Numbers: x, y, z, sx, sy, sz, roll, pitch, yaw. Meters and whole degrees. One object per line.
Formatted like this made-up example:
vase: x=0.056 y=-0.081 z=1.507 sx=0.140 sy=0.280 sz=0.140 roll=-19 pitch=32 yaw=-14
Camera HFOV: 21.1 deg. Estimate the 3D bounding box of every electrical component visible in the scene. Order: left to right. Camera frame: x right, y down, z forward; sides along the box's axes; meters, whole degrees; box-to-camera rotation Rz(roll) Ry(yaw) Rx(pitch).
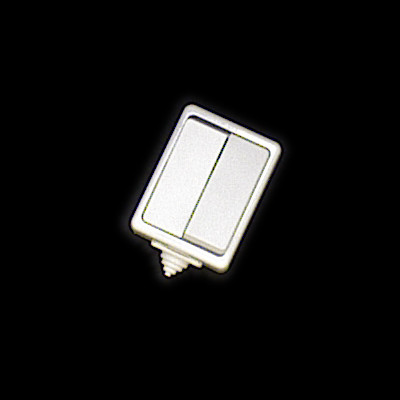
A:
electrical component: x=0.000 y=0.000 z=0.626 sx=0.062 sy=0.096 sz=0.061 roll=25 pitch=-6 yaw=3
